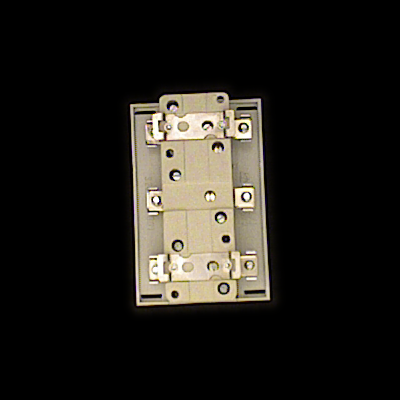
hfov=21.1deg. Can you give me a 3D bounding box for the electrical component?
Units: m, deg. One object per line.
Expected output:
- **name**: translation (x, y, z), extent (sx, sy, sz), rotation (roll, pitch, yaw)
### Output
- **electrical component**: translation (0.000, 0.000, 0.634), extent (0.079, 0.122, 0.063), rotation (-3, -6, 1)
